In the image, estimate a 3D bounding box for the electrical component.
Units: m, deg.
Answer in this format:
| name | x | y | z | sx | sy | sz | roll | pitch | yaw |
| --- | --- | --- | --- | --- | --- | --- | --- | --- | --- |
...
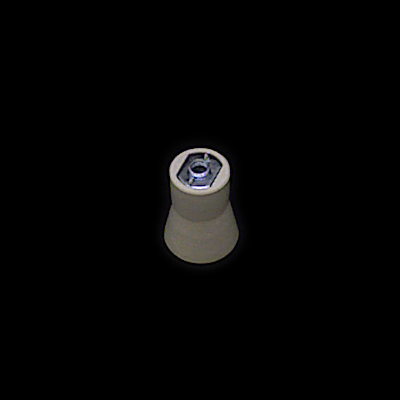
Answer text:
| name | x | y | z | sx | sy | sz | roll | pitch | yaw |
| --- | --- | --- | --- | --- | --- | --- | --- | --- | --- |
| electrical component | 0.000 | 0.000 | 0.627 | 0.044 | 0.044 | 0.065 | 0 | -38 | 1 |
